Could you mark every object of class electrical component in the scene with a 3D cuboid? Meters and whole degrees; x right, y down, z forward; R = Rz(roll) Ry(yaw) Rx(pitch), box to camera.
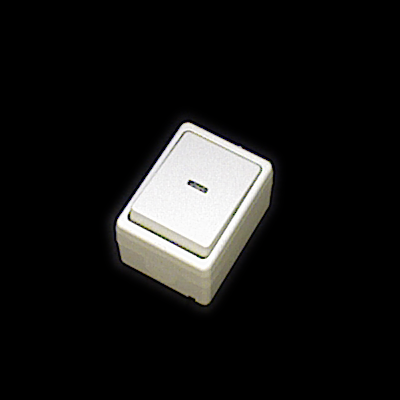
[{"bbox_3d":[0.000,0.000,0.627,0.061,0.096,0.061,27,-24,13],"label":"electrical component"}]
